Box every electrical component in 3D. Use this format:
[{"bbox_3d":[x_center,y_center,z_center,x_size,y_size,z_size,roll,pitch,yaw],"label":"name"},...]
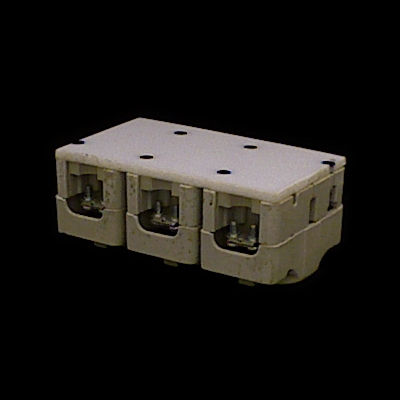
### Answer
[{"bbox_3d":[0.000,0.000,0.645,0.149,0.063,0.088,13,23,30],"label":"electrical component"}]
